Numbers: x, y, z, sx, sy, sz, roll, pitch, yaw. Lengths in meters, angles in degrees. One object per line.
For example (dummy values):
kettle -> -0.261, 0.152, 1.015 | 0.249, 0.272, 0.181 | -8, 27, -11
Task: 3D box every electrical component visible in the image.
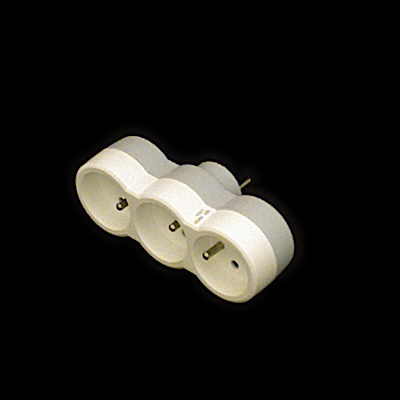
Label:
electrical component -> 0.000, 0.000, 0.642 | 0.137, 0.053, 0.074 | 28, 48, 26
